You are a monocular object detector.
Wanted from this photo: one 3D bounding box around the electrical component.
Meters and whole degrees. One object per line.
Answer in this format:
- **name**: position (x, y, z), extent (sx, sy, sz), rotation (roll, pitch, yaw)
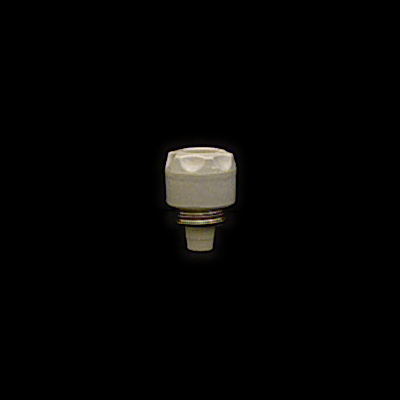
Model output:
- **electrical component**: position (0.000, 0.000, 0.650), extent (0.043, 0.062, 0.043), rotation (0, 12, 0)
